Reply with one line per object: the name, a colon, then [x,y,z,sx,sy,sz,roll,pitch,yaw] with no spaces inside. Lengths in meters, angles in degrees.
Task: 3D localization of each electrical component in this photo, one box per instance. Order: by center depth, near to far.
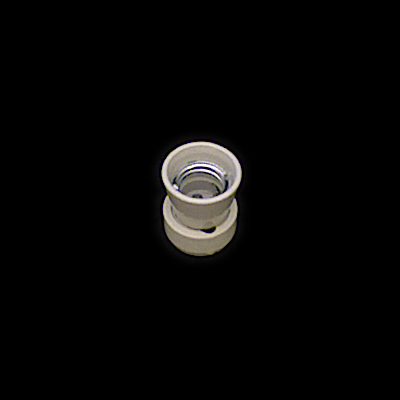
electrical component: [0.000,0.000,0.631,0.045,0.044,0.055,0,-38,-1]
